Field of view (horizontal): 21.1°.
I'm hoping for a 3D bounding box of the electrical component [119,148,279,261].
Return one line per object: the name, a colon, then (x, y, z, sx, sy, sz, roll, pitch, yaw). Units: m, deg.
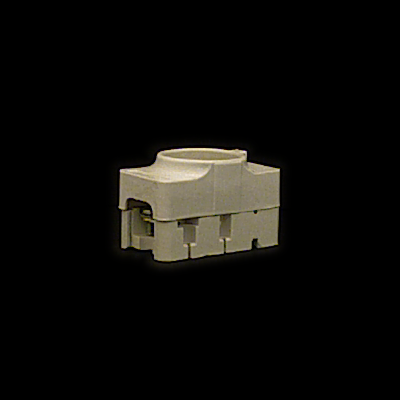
electrical component: (0.000, 0.000, 0.651, 0.090, 0.056, 0.049, -8, 15, -38)
